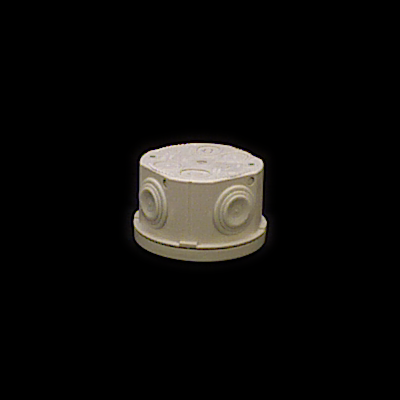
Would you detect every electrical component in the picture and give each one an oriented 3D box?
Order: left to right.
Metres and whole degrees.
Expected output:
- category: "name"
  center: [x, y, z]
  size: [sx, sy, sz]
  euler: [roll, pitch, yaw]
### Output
- category: "electrical component"
  center: [0.000, 0.000, 0.641]
  size: [0.080, 0.051, 0.079]
  euler: [2, 21, 0]
